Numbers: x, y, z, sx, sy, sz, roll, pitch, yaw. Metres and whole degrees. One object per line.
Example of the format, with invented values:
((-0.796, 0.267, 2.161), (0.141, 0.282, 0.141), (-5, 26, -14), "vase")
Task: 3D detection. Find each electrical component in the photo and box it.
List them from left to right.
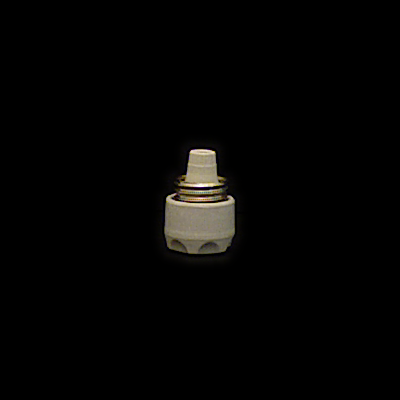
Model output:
((0.000, 0.000, 0.650), (0.043, 0.062, 0.043), (2, 13, 0), "electrical component")
